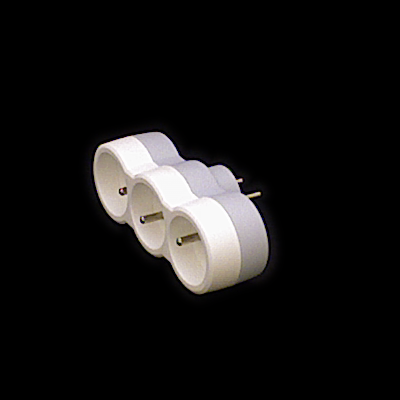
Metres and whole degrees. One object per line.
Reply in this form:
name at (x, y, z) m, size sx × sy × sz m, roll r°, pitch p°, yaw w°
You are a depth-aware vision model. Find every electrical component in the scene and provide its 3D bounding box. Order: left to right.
electrical component at (0.000, 0.000, 0.638) m, size 0.074 × 0.053 × 0.136 m, roll -16°, pitch 35°, yaw -29°
